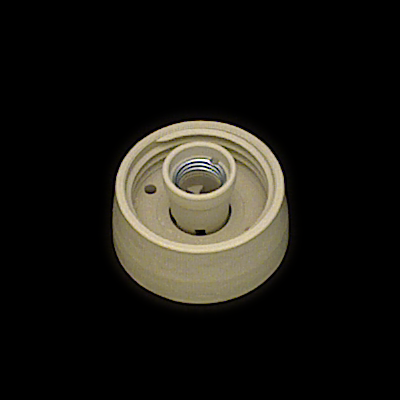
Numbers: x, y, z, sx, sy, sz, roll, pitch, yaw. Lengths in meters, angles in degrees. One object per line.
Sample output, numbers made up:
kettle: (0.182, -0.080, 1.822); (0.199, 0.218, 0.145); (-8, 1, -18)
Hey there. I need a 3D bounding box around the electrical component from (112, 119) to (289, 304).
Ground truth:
electrical component: (0.000, 0.000, 0.636); (0.108, 0.107, 0.060); (0, -37, 0)
